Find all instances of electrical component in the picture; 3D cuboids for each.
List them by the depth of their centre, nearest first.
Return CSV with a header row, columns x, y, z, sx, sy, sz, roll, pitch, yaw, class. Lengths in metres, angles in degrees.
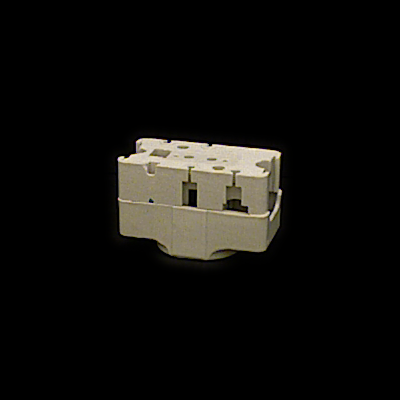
x,y,z,sx,sy,sz,roll,pitch,yaw,class
0.000,0.000,0.646,0.089,0.056,0.050,6,23,13,electrical component
